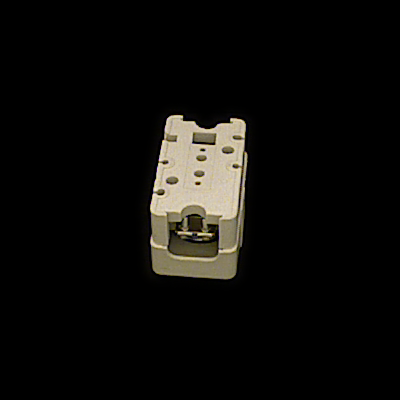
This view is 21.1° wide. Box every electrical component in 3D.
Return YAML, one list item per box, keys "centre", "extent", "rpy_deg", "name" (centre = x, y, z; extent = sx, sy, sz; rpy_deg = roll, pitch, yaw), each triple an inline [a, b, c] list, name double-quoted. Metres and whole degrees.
- centre: [0.000, 0.000, 0.639]
  extent: [0.050, 0.056, 0.089]
  rpy_deg: [3, 42, 4]
  name: "electrical component"
